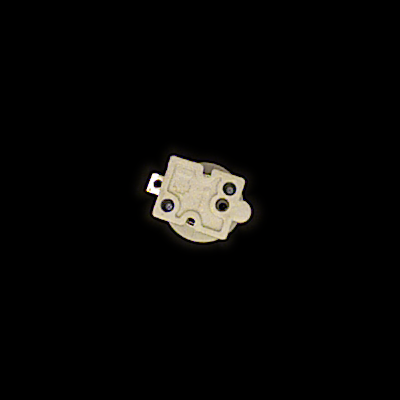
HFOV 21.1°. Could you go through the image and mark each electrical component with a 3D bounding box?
[{"bbox_3d":[0.000,0.000,0.639,0.066,0.048,0.055,19,-4,3],"label":"electrical component"}]
